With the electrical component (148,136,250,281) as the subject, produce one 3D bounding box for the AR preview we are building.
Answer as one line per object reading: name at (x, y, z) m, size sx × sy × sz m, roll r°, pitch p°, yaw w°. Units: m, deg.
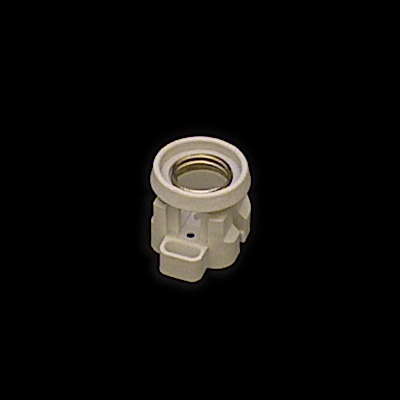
electrical component at (0.000, 0.000, 0.633) m, size 0.057 × 0.057 × 0.078 m, roll 14°, pitch 44°, yaw 15°
